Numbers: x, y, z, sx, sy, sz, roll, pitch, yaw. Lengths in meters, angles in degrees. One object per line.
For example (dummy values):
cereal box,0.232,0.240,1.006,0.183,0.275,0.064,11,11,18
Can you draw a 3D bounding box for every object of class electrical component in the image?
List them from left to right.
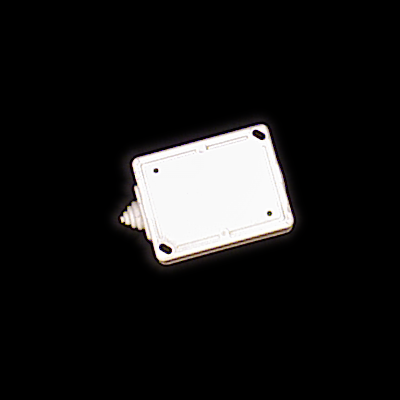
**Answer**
electrical component,0.000,0.000,0.630,0.096,0.062,0.061,-15,-7,-1
